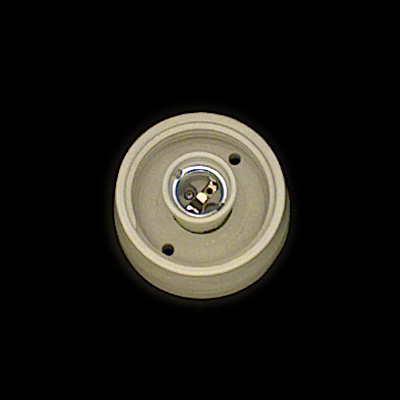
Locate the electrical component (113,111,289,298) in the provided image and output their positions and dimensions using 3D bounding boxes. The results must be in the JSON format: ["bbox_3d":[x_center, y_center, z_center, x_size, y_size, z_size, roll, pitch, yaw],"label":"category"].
[{"bbox_3d":[0.000,0.000,0.633,0.108,0.108,0.060,0,-16,0],"label":"electrical component"}]
